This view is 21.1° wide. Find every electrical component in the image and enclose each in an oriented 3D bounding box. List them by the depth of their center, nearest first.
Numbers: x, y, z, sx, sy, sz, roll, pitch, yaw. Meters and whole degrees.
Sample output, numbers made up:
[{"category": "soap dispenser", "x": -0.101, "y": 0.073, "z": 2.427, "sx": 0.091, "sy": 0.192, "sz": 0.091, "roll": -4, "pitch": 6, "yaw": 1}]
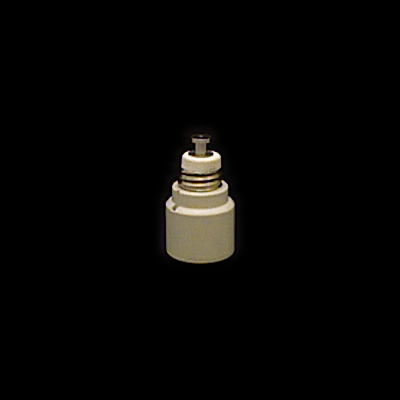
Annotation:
[{"category": "electrical component", "x": 0.000, "y": 0.000, "z": 0.636, "sx": 0.040, "sy": 0.079, "sz": 0.039, "roll": 1, "pitch": 22, "yaw": 0}]
